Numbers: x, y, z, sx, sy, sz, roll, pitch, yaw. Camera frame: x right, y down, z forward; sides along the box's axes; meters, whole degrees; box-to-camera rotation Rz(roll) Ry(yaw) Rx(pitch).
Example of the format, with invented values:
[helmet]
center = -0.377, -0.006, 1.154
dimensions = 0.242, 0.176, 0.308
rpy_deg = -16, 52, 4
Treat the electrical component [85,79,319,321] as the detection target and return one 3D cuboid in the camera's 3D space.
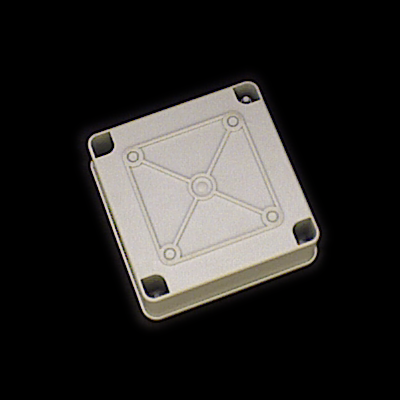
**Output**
[electrical component]
center = 0.000, 0.000, 0.629
dimensions = 0.109, 0.109, 0.056
rpy_deg = -20, -17, -6
